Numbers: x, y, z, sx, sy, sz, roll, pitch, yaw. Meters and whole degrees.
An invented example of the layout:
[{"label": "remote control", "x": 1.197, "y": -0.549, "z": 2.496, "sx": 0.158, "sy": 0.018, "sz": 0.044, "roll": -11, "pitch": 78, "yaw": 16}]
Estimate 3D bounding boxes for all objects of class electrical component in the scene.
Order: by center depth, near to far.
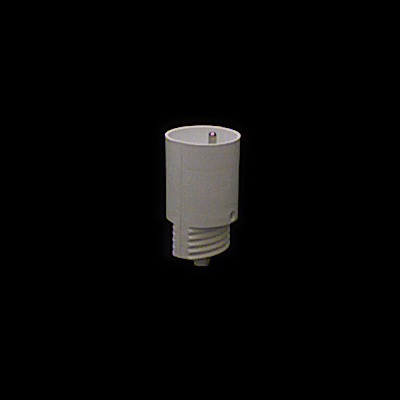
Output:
[{"label": "electrical component", "x": 0.000, "y": 0.000, "z": 0.637, "sx": 0.043, "sy": 0.082, "sz": 0.042, "roll": 2, "pitch": 21, "yaw": 0}]
